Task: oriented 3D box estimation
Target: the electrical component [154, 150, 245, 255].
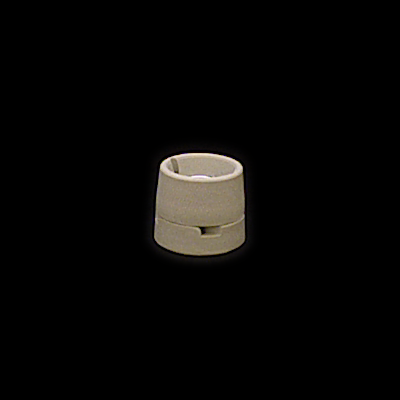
[{"bbox_3d":[0.000,0.000,0.640,0.055,0.047,0.055,2,22,-1],"label":"electrical component"}]
